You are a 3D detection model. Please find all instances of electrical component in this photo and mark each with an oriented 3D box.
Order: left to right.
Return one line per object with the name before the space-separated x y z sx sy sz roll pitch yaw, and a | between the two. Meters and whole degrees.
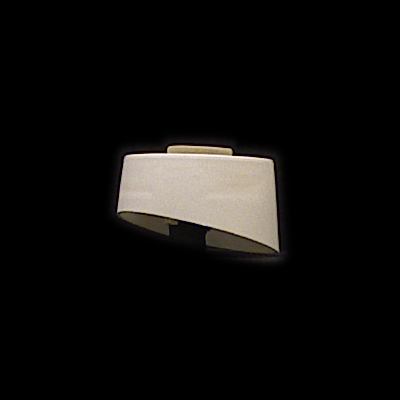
electrical component | 0.000 0.000 0.648 0.099 0.064 0.099 2 0 0
